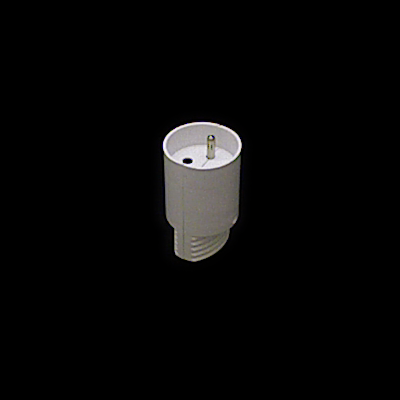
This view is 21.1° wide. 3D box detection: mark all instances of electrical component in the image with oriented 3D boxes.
[{"bbox_3d":[0.000,0.000,0.625,0.043,0.082,0.042,1,41,-1],"label":"electrical component"}]
